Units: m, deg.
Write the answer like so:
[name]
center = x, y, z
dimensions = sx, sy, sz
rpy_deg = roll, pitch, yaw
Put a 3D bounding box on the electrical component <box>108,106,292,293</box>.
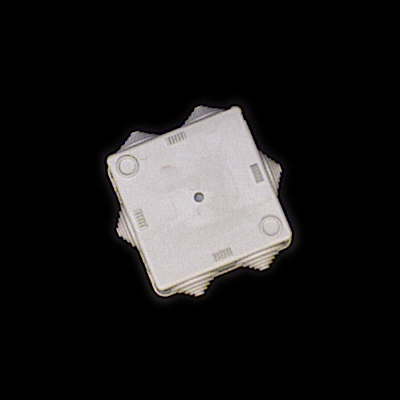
[electrical component]
center = 0.000, 0.000, 0.632
dimensions = 0.100, 0.100, 0.048
rpy_deg = -22, -6, -3
